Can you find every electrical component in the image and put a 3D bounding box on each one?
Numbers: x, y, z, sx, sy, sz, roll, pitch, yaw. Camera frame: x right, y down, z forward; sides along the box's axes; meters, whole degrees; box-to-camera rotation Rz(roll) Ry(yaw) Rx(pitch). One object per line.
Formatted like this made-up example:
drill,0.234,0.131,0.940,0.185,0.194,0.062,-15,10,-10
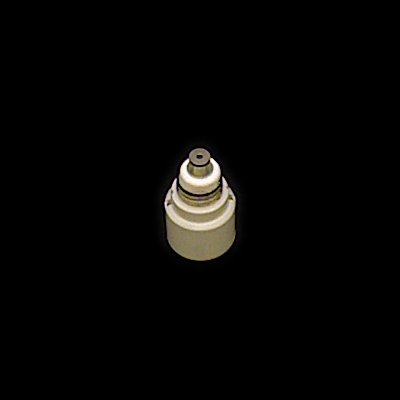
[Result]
electrical component,0.000,0.000,0.621,0.040,0.040,0.079,0,-37,1
